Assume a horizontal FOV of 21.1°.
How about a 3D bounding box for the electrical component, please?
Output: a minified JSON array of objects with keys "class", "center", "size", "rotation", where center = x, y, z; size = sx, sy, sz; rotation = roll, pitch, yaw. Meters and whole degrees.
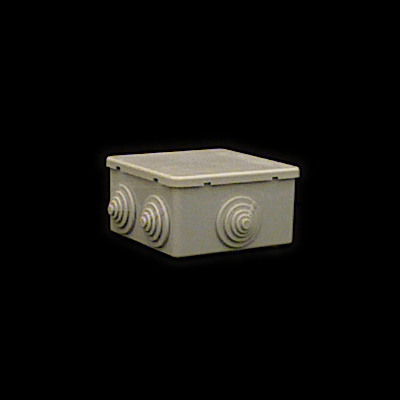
[{"class":"electrical component","center":[0.000,0.000,0.653],"size":[0.100,0.049,0.098],"rotation":[-6,13,-31]}]
